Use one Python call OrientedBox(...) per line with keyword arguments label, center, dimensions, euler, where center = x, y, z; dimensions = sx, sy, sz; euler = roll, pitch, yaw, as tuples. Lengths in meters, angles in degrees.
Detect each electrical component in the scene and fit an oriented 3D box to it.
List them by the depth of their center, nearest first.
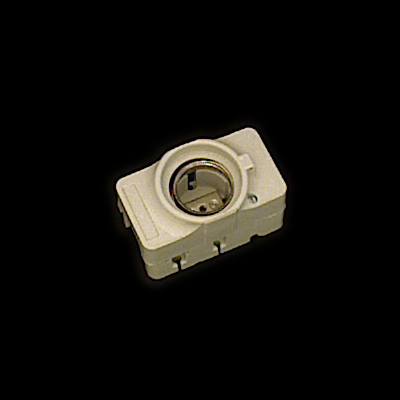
OrientedBox(label="electrical component", center=(0.000, 0.000, 0.635), dimensions=(0.090, 0.050, 0.055), euler=(-23, -24, -11))
